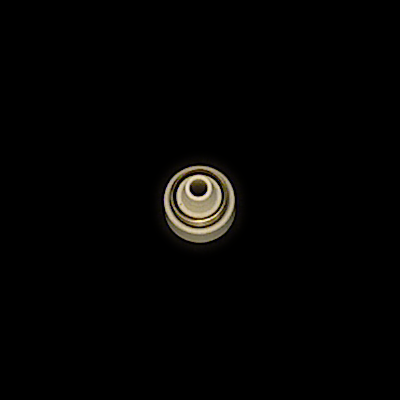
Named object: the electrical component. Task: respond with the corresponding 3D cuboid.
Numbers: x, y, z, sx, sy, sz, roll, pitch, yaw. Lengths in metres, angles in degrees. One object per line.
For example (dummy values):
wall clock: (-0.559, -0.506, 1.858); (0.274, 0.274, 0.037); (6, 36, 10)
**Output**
electrical component: (0.000, 0.000, 0.633); (0.043, 0.043, 0.061); (0, -14, 1)
